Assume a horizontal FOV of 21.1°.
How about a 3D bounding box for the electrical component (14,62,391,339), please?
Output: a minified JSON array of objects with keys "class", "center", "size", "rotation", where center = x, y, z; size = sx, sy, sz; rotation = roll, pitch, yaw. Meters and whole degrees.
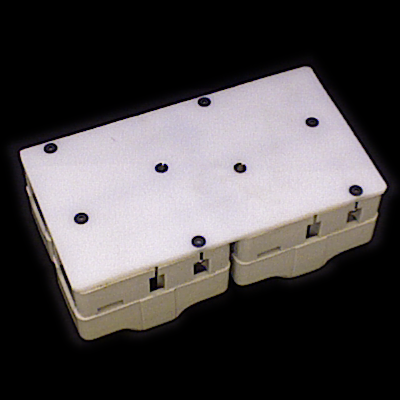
[{"class":"electrical component","center":[0.000,0.000,0.627],"size":[0.186,0.105,0.060],"rotation":[-18,-36,-14]}]
